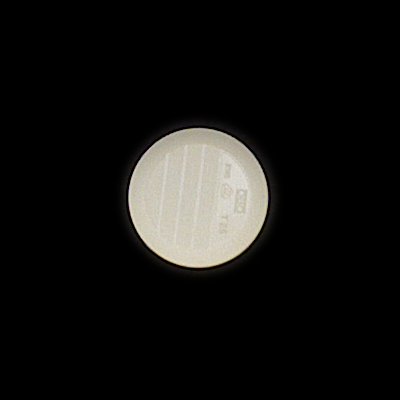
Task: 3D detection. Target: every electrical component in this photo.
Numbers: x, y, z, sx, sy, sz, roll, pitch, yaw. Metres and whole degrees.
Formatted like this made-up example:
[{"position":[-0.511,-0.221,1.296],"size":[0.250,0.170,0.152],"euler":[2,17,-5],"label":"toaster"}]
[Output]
[{"position":[0.000,0.000,0.631],"size":[0.080,0.080,0.050],"euler":[0,-6,0],"label":"electrical component"}]
